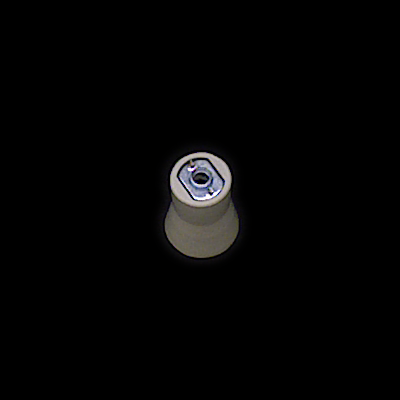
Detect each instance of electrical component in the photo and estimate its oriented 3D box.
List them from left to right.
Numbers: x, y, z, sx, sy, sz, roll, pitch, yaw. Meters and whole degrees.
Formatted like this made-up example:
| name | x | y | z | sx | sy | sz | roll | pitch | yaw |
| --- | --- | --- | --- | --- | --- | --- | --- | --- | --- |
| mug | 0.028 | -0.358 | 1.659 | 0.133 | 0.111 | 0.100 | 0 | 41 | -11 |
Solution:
| name | x | y | z | sx | sy | sz | roll | pitch | yaw |
| --- | --- | --- | --- | --- | --- | --- | --- | --- | --- |
| electrical component | 0.000 | 0.000 | 0.624 | 0.044 | 0.044 | 0.065 | 0 | -26 | 1 |
